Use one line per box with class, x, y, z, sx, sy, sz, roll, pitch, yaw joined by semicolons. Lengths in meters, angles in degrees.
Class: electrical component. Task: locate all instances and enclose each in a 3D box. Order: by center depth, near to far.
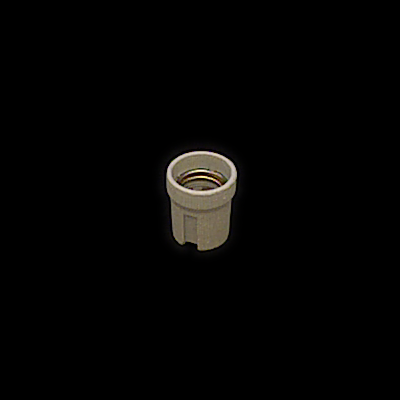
electrical component;0.000;0.000;0.635;0.040;0.047;0.039;1;42;0
